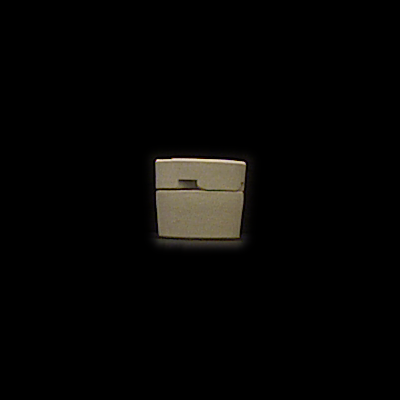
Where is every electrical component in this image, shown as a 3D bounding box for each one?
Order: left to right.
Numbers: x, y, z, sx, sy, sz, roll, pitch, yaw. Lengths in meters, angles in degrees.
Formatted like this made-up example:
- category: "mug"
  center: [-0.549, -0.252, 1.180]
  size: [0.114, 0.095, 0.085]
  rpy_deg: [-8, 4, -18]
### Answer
- category: "electrical component"
  center: [0.000, 0.000, 0.652]
  size: [0.055, 0.047, 0.055]
  rpy_deg: [1, 1, 0]
